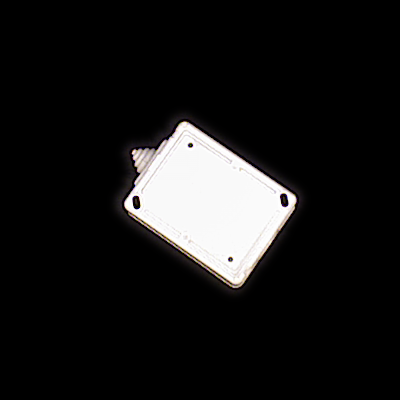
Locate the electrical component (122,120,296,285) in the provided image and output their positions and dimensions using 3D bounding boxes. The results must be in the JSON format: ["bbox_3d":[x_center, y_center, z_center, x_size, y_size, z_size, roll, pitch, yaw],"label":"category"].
[{"bbox_3d":[0.000,0.000,0.630,0.096,0.062,0.061,35,-5,5],"label":"electrical component"}]
